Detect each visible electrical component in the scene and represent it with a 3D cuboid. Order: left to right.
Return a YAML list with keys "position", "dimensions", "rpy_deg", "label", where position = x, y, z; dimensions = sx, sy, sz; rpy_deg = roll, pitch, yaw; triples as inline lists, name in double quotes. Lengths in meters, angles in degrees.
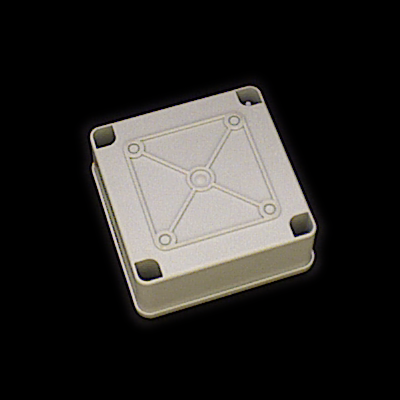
- position: [0.000, 0.000, 0.629]
  dimensions: [0.109, 0.108, 0.056]
  rpy_deg: [-16, -26, -9]
  label: "electrical component"
